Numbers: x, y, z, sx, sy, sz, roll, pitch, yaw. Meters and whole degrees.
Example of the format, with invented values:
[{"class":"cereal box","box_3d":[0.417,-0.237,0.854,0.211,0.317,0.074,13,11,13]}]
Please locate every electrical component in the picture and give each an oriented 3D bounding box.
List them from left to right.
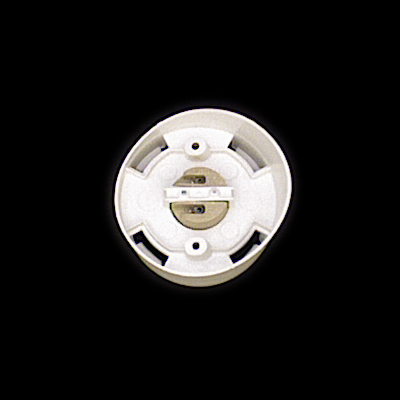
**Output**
[{"class":"electrical component","box_3d":[0.000,0.000,0.624,0.099,0.099,0.064,0,-17,-1]}]
